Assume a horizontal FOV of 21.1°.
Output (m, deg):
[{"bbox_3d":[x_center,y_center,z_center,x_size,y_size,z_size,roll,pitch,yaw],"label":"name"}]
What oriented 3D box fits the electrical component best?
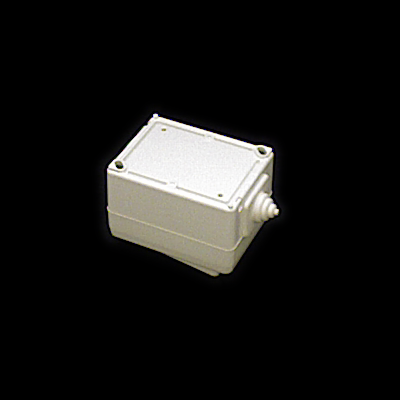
[{"bbox_3d":[0.000,0.000,0.630,0.096,0.061,0.061,18,44,19],"label":"electrical component"}]
